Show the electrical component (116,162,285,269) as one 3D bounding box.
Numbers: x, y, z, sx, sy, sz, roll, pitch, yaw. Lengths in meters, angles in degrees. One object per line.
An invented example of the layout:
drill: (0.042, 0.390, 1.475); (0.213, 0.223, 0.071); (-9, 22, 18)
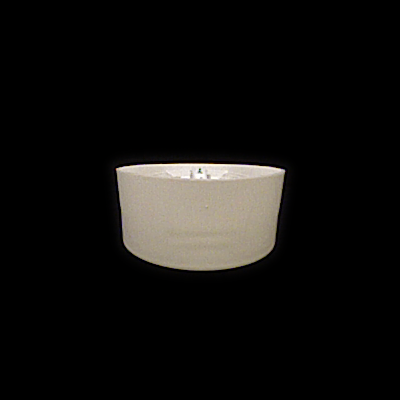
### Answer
electrical component: (0.000, 0.000, 0.637); (0.099, 0.065, 0.097); (2, 21, 0)
